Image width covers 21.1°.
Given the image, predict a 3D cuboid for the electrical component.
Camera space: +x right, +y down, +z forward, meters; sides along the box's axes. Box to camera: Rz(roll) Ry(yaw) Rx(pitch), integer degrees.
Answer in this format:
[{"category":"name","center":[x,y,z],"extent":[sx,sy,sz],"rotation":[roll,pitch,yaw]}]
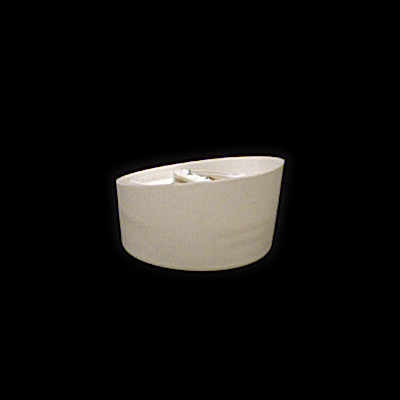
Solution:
[{"category":"electrical component","center":[0.000,0.000,0.638],"extent":[0.099,0.065,0.097],"rotation":[2,21,-1]}]
